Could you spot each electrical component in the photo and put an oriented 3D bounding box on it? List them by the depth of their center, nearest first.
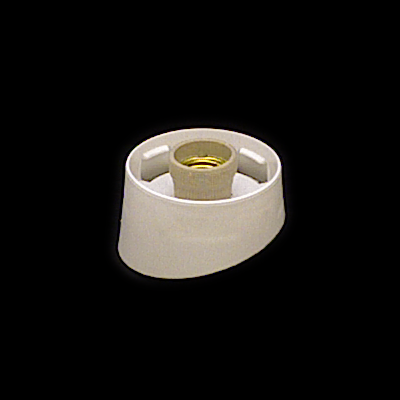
[{"bbox_3d":[0.000,0.000,0.634,0.099,0.065,0.097,0,31,0],"label":"electrical component"}]
